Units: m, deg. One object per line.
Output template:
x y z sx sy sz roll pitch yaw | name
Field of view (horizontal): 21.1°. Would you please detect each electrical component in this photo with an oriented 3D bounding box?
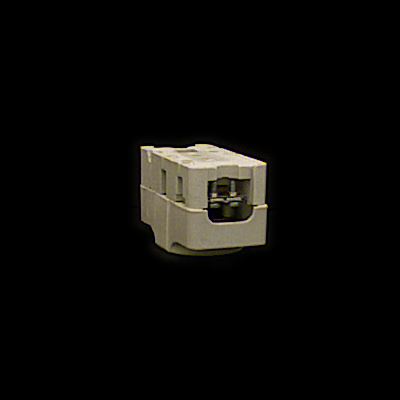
0.000 0.000 0.651 0.050 0.056 0.088 -5 12 -23 | electrical component
